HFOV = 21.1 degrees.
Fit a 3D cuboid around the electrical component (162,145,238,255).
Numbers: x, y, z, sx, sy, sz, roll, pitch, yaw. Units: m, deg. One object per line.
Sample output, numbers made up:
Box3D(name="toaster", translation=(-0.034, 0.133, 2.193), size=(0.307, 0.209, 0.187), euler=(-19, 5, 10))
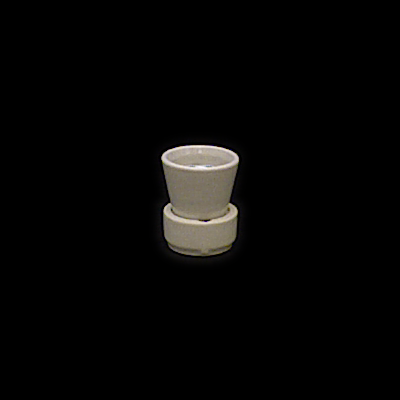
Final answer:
Box3D(name="electrical component", translation=(0.000, 0.000, 0.637), size=(0.045, 0.056, 0.044), euler=(0, 21, 0))
